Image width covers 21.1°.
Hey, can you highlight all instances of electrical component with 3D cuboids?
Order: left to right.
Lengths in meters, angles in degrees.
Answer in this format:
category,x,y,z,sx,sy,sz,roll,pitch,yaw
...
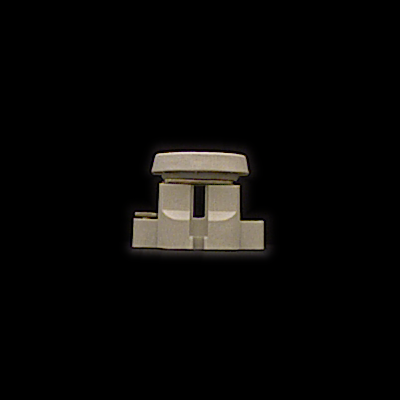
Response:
category,x,y,z,sx,sy,sz,roll,pitch,yaw
electrical component,0.000,0.000,0.648,0.078,0.057,0.058,1,1,0
